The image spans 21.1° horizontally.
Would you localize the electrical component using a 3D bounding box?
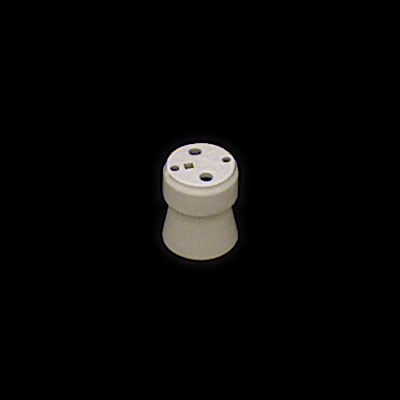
[{"bbox_3d":[0.000,0.000,0.633,0.045,0.055,0.044,1,42,0],"label":"electrical component"}]
